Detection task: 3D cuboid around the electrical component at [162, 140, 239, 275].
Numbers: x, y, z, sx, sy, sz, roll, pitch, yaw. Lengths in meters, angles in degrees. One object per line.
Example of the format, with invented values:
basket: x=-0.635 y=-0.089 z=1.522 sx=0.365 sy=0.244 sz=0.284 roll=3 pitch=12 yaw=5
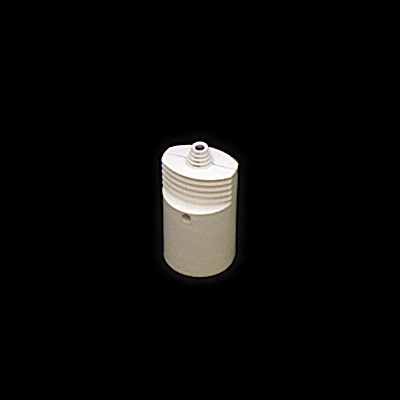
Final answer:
electrical component: x=0.000 y=0.000 z=0.624 sx=0.043 sy=0.082 sz=0.042 roll=0 pitch=42 yaw=0
